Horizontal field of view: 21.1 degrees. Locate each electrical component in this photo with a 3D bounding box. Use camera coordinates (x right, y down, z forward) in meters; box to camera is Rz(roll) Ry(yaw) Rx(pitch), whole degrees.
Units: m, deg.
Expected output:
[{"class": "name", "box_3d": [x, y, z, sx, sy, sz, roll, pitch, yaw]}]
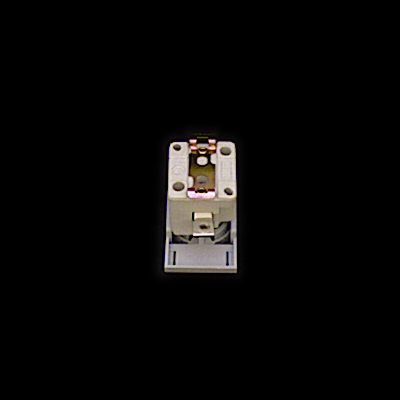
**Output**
[{"class": "electrical component", "box_3d": [0.000, 0.000, 0.627, 0.042, 0.080, 0.064, 0, -37, 0]}]
